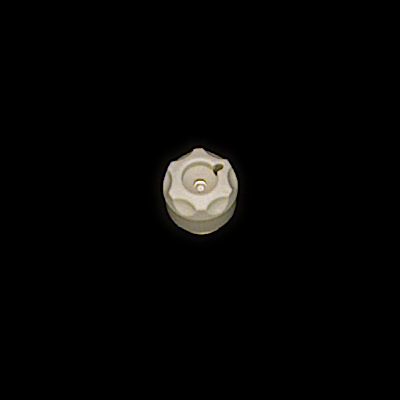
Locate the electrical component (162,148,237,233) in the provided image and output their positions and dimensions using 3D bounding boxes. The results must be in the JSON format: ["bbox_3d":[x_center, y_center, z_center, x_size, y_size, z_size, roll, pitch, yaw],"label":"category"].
[{"bbox_3d":[0.000,0.000,0.634,0.043,0.043,0.062,0,-26,1],"label":"electrical component"}]
